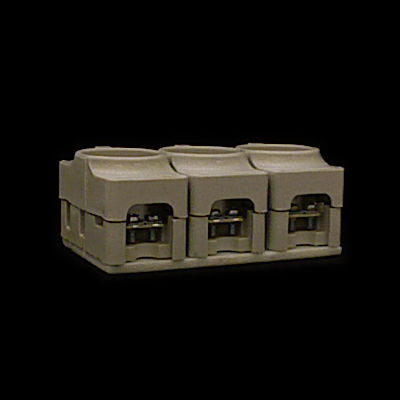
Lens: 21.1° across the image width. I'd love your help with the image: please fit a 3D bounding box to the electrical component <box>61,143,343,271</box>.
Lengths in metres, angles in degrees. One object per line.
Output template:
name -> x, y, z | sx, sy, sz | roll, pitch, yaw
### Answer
electrical component -> 0.000, 0.000, 0.652 | 0.150, 0.062, 0.088 | -3, 10, -25
